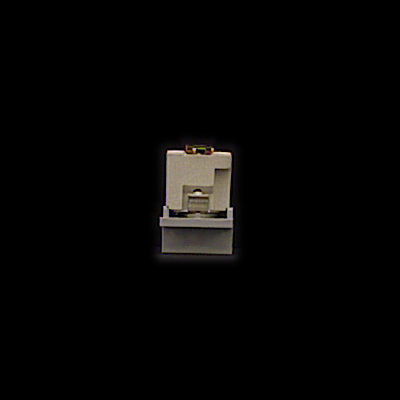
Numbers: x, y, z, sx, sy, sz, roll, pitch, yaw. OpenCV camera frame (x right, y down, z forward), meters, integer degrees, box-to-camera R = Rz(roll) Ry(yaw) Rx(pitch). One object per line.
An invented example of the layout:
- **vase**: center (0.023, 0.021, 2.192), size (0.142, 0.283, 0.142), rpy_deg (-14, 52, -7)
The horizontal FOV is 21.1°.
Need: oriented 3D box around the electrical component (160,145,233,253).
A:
- **electrical component**: center (0.000, 0.000, 0.649), size (0.042, 0.064, 0.081), rpy_deg (1, 0, 1)
